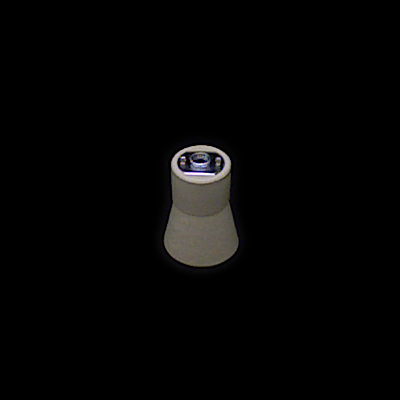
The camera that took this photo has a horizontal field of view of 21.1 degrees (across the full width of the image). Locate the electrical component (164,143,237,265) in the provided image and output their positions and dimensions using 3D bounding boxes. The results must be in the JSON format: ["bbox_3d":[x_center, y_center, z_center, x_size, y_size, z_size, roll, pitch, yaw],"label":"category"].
[{"bbox_3d":[0.000,0.000,0.631,0.044,0.066,0.044,0,41,0],"label":"electrical component"}]
